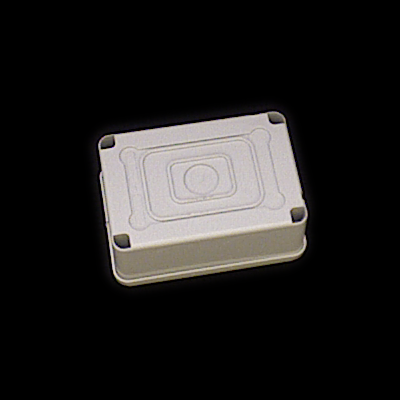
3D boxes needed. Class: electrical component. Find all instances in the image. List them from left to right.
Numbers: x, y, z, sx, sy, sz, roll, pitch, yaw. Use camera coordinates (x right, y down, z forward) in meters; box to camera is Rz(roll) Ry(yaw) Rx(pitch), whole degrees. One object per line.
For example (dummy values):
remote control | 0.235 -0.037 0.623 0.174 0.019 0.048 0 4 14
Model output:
electrical component | 0.000 0.000 0.628 0.113 0.078 0.057 -9 -27 -4
